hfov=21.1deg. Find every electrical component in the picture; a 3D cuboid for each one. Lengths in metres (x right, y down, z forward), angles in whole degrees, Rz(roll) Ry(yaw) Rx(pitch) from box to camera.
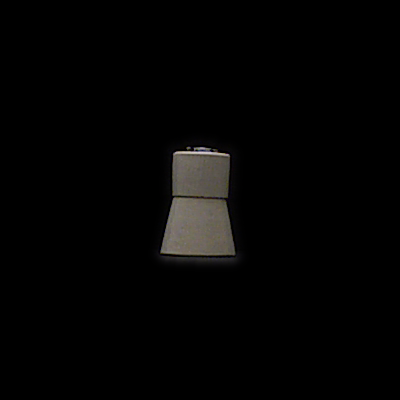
[{"bbox_3d":[0.000,0.000,0.648,0.044,0.065,0.044,2,1,0],"label":"electrical component"}]
